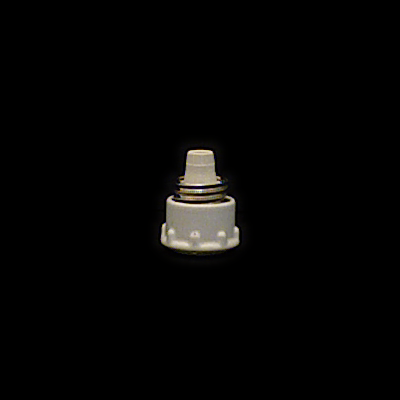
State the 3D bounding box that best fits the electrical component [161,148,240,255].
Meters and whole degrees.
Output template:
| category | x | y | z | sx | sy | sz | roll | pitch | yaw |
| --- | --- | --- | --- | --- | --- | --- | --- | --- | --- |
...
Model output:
| category | x | y | z | sx | sy | sz | roll | pitch | yaw |
| --- | --- | --- | --- | --- | --- | --- | --- | --- | --- |
| electrical component | 0.000 | 0.000 | 0.649 | 0.048 | 0.062 | 0.048 | 0 | 13 | 1 |
